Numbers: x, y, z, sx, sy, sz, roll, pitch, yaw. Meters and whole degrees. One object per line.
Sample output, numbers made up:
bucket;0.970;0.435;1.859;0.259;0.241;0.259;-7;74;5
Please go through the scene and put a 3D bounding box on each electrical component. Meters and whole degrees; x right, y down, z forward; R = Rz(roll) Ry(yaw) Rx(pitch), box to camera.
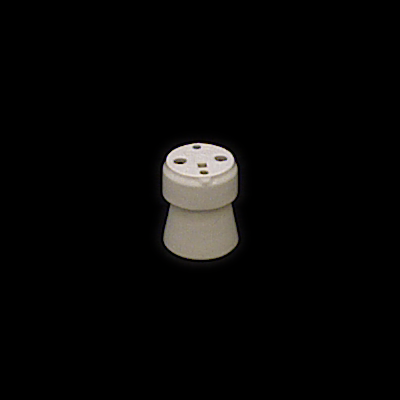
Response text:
electrical component;0.000;0.000;0.635;0.045;0.056;0.044;0;31;0
